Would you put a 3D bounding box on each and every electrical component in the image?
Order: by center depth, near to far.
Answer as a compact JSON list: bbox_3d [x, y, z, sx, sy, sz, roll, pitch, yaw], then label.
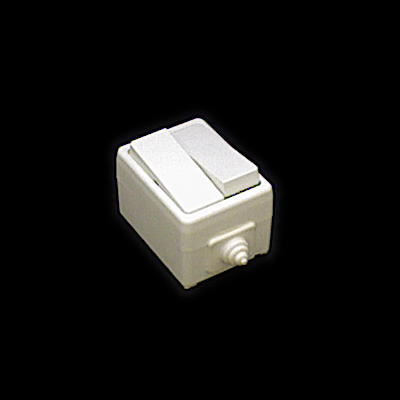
[{"bbox_3d":[0.000,0.000,0.629,0.061,0.061,0.096,-23,47,-24],"label":"electrical component"}]
